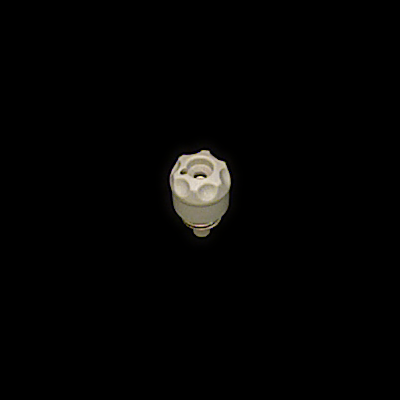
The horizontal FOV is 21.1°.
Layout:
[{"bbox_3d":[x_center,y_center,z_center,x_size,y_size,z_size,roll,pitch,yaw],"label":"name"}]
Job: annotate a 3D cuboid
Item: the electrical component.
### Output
[{"bbox_3d":[0.000,0.000,0.635,0.035,0.035,0.062,0,-37,0],"label":"electrical component"}]
